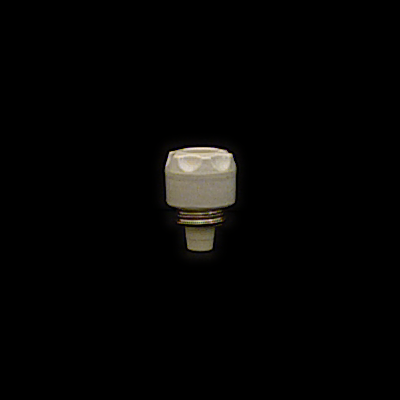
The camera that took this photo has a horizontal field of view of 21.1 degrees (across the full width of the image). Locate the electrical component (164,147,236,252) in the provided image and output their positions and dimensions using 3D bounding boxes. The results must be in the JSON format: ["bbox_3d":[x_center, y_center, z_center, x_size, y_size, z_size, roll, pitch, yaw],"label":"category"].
[{"bbox_3d":[0.000,0.000,0.651,0.043,0.062,0.043,0,12,0],"label":"electrical component"}]
